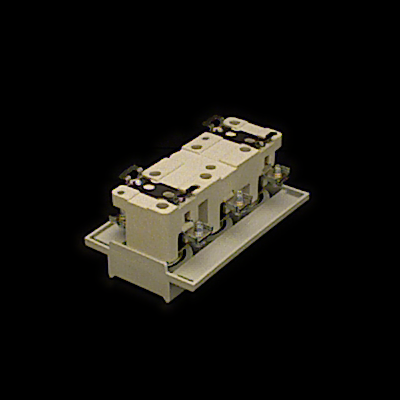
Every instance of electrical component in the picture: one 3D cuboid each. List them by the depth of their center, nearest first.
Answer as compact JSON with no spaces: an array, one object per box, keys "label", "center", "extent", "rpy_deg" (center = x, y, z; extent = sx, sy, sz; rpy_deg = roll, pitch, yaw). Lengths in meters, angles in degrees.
[{"label":"electrical component","center":[0.000,0.000,0.642],"extent":[0.077,0.064,0.121],"rpy_deg":[21,37,30]}]
